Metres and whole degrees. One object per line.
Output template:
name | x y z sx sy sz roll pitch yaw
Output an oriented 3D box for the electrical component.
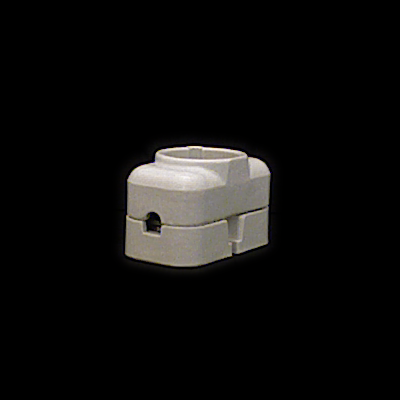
electrical component | 0.000 0.000 0.652 0.053 0.060 0.095 10 14 33
